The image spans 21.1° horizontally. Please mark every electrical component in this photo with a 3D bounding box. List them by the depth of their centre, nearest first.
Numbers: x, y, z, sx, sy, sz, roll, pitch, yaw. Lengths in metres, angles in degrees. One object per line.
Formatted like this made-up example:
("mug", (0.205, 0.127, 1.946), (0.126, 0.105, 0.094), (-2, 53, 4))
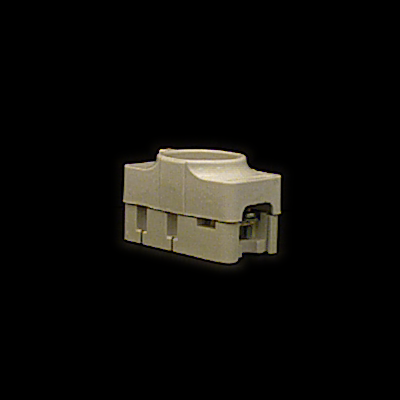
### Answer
("electrical component", (0.000, 0.000, 0.652), (0.088, 0.056, 0.050), (11, 15, 40))
